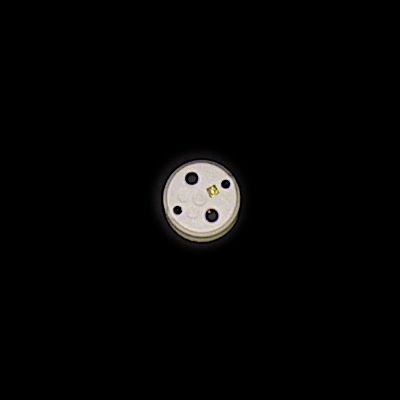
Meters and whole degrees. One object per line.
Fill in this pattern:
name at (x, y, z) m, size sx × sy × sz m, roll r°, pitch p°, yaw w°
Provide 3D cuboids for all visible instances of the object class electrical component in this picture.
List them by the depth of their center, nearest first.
electrical component at (0.000, 0.000, 0.629) m, size 0.045 × 0.045 × 0.055 m, roll 0°, pitch -6°, yaw 1°
